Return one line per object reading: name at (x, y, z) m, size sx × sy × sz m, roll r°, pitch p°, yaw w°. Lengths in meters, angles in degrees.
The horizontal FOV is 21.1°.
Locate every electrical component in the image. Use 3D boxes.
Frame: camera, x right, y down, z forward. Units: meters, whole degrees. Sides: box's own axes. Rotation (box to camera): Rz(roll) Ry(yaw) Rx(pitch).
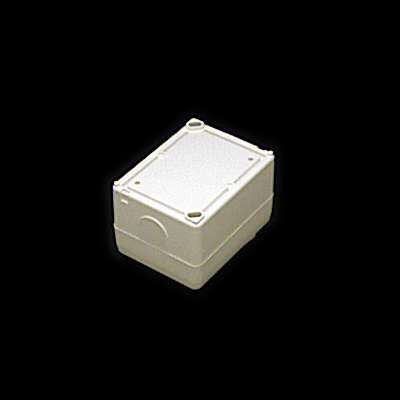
electrical component at (0.001, 0.000, 0.636) m, size 0.061 × 0.062 × 0.095 m, roll 25°, pitch 47°, yaw 26°
